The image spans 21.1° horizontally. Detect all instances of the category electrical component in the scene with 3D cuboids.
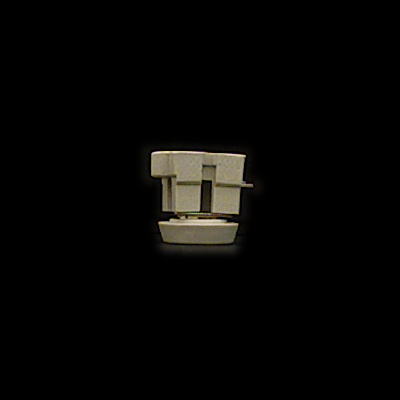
[{"bbox_3d":[0.000,0.000,0.655,0.067,0.055,0.048,2,0,-17],"label":"electrical component"}]
